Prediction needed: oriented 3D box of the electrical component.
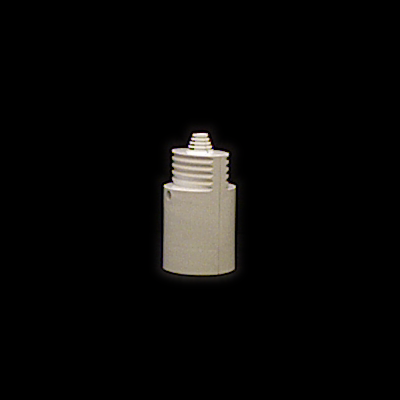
[{"bbox_3d":[0.000,0.000,0.643,0.043,0.081,0.043,1,11,0],"label":"electrical component"}]
